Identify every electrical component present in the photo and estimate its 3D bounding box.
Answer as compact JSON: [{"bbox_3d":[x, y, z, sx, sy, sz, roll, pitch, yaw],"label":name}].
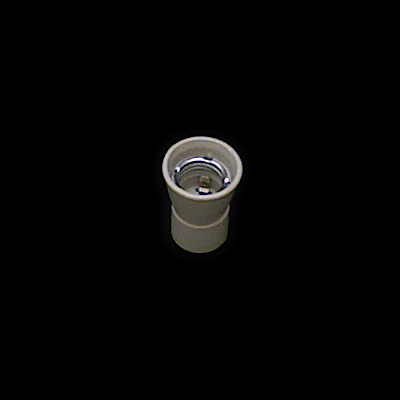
[{"bbox_3d":[0.000,0.000,0.626,0.044,0.044,0.065,0,-37,-2],"label":"electrical component"}]
